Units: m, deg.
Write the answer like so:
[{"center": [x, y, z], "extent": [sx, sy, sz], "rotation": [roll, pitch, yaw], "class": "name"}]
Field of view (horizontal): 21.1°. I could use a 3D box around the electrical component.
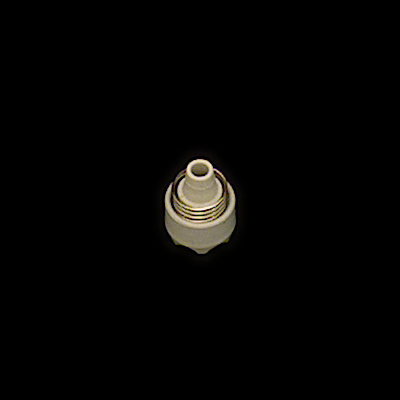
[{"center": [0.000, 0.000, 0.634], "extent": [0.043, 0.043, 0.062], "rotation": [0, -36, 0], "class": "electrical component"}]
